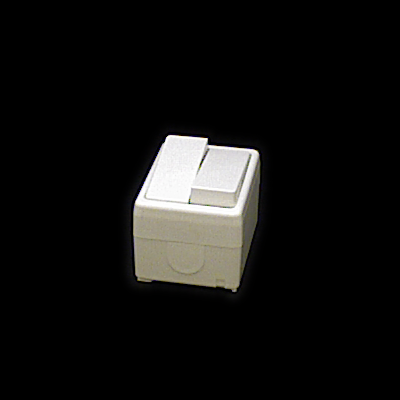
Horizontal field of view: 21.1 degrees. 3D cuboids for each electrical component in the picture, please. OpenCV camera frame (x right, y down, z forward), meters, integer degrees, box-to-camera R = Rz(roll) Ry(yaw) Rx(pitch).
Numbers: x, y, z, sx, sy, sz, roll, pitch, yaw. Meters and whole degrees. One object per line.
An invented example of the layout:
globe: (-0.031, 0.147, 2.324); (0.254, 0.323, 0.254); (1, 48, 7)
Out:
electrical component: (0.000, 0.000, 0.637); (0.061, 0.061, 0.095); (6, 32, 9)
